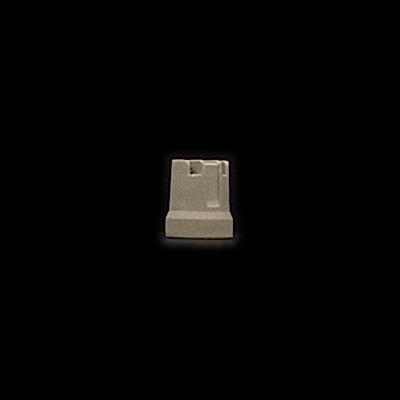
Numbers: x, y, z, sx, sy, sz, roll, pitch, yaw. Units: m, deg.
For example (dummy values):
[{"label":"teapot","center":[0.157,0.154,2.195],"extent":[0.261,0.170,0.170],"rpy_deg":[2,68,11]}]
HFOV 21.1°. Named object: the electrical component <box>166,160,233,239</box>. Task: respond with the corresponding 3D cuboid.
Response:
[{"label":"electrical component","center":[0.000,0.000,0.648],"extent":[0.040,0.046,0.040],"rpy_deg":[1,1,0]}]
